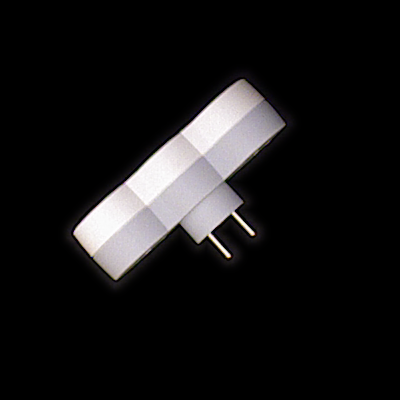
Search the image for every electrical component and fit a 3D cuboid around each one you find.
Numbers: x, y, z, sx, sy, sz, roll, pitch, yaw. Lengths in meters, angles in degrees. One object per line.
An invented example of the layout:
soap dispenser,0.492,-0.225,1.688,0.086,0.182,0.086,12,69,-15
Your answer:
electrical component,0.000,0.000,0.632,0.138,0.074,0.052,-43,-3,-5
